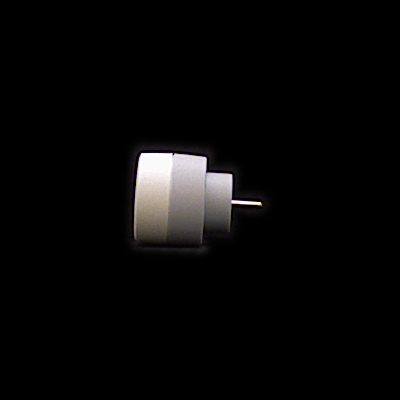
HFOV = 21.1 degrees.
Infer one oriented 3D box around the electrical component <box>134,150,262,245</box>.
[{"bbox_3d":[0.000,0.000,0.653,0.074,0.052,0.138,3,-1,-1],"label":"electrical component"}]
